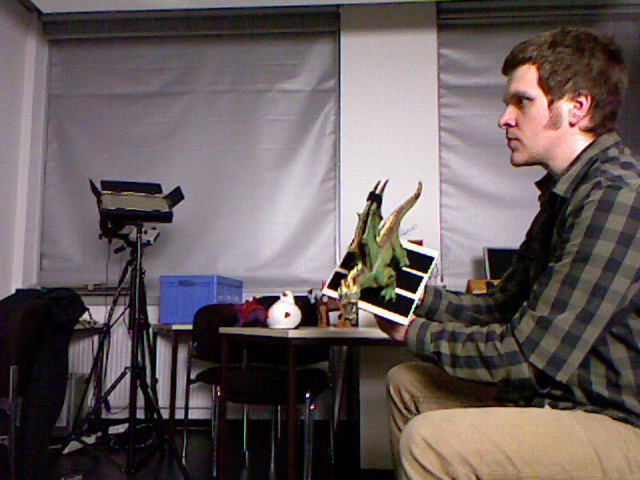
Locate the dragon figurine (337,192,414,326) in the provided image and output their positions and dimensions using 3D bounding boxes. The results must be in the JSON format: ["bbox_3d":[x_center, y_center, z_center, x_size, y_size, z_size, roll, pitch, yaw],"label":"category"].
[{"bbox_3d":[0.126,0.000,1.076,0.123,0.420,0.238,16,-30,16],"label":"dragon figurine"}]
